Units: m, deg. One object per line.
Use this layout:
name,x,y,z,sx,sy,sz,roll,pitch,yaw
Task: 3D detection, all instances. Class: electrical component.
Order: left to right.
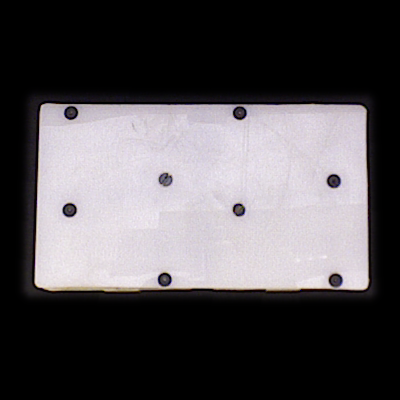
electrical component,0.000,0.000,0.626,0.186,0.106,0.060,0,-7,0
